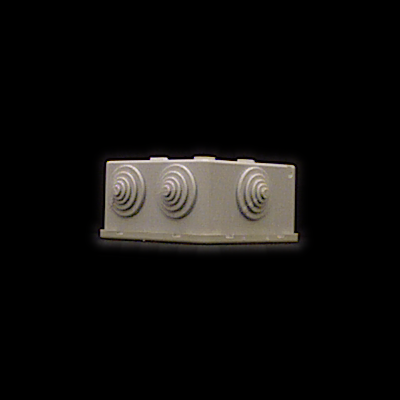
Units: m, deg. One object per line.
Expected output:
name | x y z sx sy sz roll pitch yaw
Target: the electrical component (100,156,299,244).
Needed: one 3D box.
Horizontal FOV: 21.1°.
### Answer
electrical component | 0.000 0.000 0.649 0.099 0.048 0.100 1 0 42
